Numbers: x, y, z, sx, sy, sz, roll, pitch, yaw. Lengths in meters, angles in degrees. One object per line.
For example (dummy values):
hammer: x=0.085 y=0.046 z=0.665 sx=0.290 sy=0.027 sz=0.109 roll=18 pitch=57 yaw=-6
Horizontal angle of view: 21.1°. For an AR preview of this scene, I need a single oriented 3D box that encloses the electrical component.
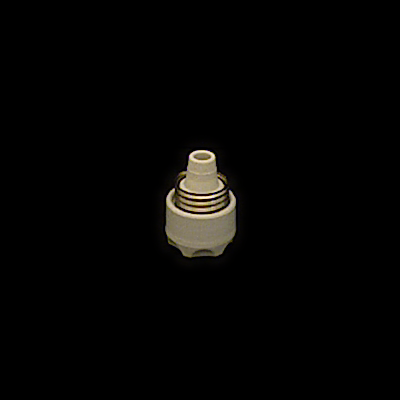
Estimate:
electrical component: x=0.000 y=0.000 z=0.642 sx=0.043 sy=0.063 sz=0.043 roll=1 pitch=31 yaw=0
